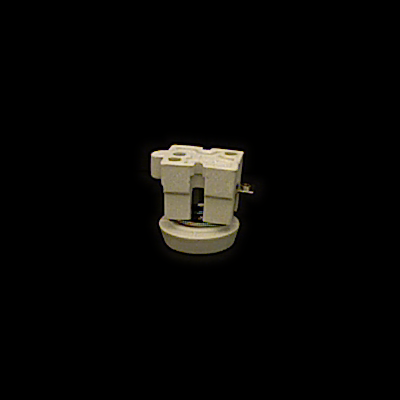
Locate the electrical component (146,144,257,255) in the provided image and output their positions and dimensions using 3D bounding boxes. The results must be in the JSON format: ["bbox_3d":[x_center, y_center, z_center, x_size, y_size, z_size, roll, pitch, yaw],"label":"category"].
[{"bbox_3d":[0.000,0.000,0.646,0.066,0.056,0.048,5,21,8],"label":"electrical component"}]
